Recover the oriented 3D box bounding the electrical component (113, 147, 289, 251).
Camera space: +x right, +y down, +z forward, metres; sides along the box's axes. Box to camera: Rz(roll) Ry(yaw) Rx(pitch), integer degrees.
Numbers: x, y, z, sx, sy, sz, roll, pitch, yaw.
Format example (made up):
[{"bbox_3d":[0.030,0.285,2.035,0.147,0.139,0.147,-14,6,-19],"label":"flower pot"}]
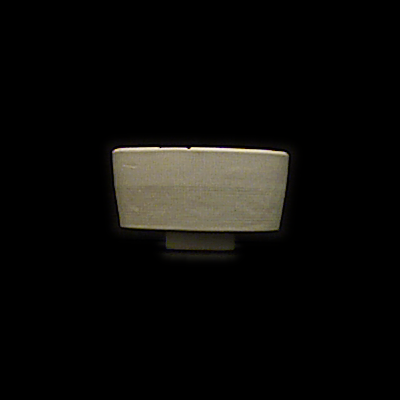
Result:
[{"bbox_3d":[0.000,0.000,0.660,0.108,0.060,0.108,1,1,1],"label":"electrical component"}]
